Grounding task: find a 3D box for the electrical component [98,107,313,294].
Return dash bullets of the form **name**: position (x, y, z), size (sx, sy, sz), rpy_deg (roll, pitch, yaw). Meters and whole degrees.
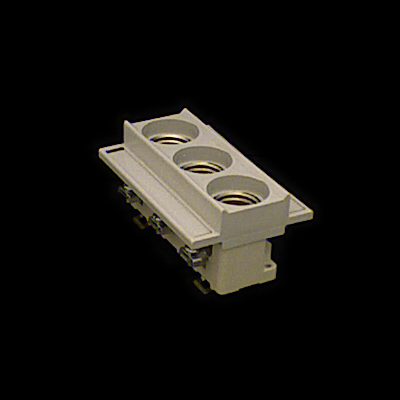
- **electrical component**: position (0.000, 0.000, 0.648), size (0.079, 0.064, 0.119), rpy_deg (-15, 35, -25)
